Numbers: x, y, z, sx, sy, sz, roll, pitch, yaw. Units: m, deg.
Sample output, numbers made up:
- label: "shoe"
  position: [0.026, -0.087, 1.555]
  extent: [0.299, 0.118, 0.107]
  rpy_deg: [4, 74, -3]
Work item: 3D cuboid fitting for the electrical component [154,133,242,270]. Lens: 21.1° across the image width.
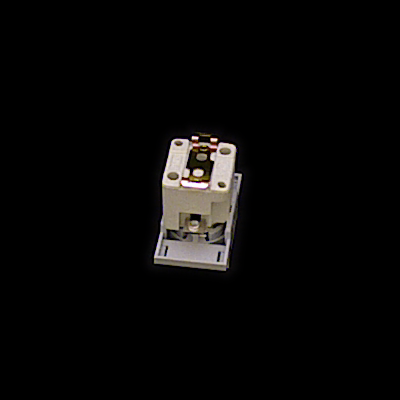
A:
- label: "electrical component"
  position: [0.000, 0.000, 0.629]
  extent: [0.042, 0.064, 0.080]
  rpy_deg: [5, 42, 5]
